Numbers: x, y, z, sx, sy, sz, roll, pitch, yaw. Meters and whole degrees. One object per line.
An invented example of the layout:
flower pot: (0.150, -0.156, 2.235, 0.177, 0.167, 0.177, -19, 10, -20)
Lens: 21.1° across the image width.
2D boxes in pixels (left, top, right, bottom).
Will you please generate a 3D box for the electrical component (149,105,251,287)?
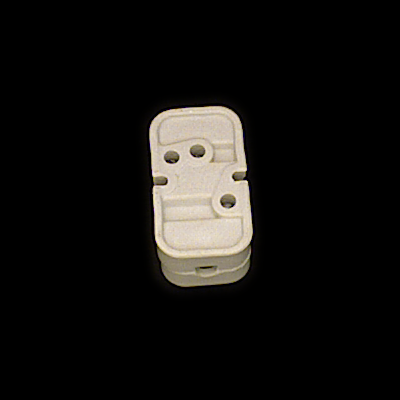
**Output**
electrical component: (0.000, 0.000, 0.634, 0.054, 0.095, 0.059, -4, -26, -2)
